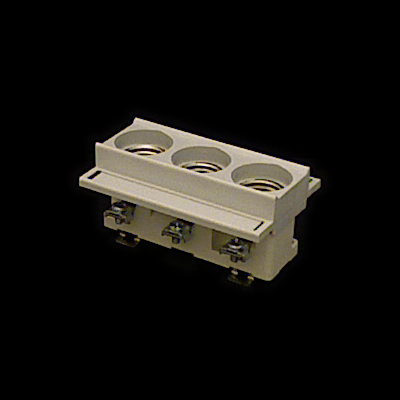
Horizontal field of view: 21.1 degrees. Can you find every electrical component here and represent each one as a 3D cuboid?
[{"bbox_3d":[0.000,0.000,0.648,0.120,0.064,0.078,18,34,26],"label":"electrical component"}]
